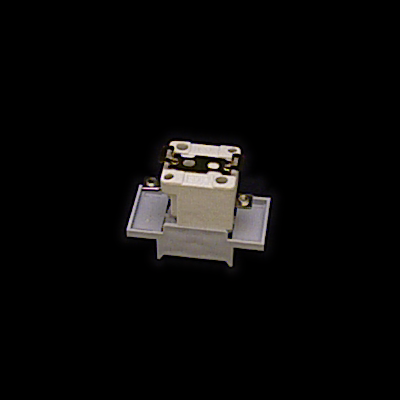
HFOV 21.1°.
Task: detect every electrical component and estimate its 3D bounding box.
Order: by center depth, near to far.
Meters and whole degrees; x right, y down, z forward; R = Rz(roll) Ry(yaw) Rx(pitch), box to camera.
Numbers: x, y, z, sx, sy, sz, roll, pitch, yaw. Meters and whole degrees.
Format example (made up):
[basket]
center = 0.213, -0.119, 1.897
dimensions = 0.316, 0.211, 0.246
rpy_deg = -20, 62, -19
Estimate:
[electrical component]
center = 0.000, 0.000, 0.630
dimensions = 0.081, 0.064, 0.042
rpy_deg = 5, 42, 5
